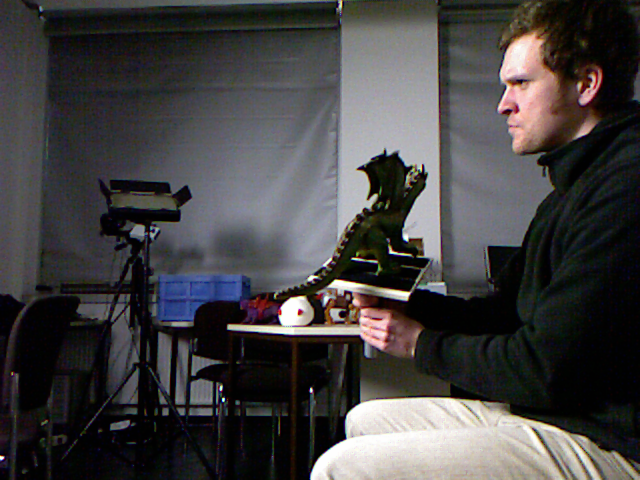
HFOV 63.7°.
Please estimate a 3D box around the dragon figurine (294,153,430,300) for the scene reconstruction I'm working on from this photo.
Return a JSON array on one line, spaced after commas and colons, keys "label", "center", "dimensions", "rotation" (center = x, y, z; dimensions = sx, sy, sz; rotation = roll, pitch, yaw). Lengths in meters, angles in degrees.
[{"label": "dragon figurine", "center": [0.102, -0.052, 0.995], "dimensions": [0.123, 0.239, 0.416], "rotation": [20, 29, 34]}]
